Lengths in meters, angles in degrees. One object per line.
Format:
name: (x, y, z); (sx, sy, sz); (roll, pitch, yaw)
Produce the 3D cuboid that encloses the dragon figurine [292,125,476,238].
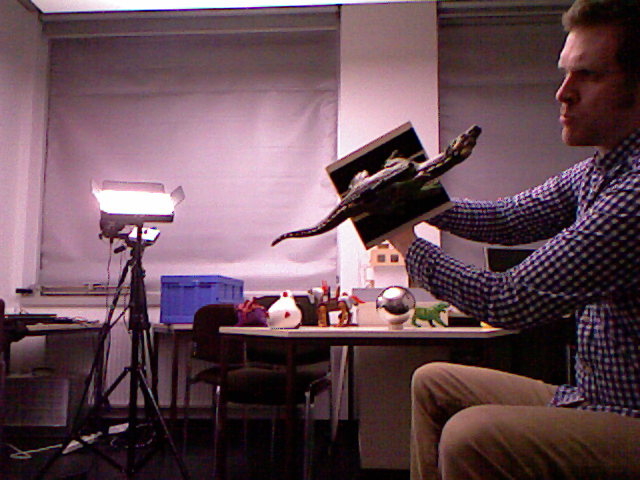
dragon figurine: (0.111, -0.093, 0.974); (0.411, 0.123, 0.244); (-30, -3, 6)
